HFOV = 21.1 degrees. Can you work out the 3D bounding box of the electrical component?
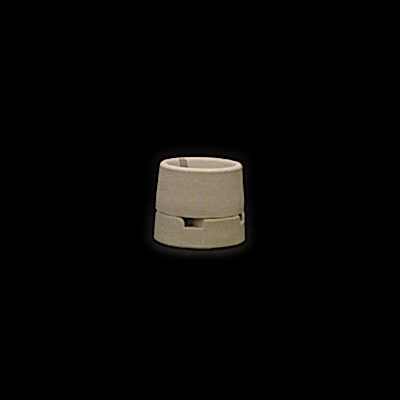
[{"bbox_3d":[0.000,0.000,0.644,0.055,0.047,0.055,1,12,0],"label":"electrical component"}]
